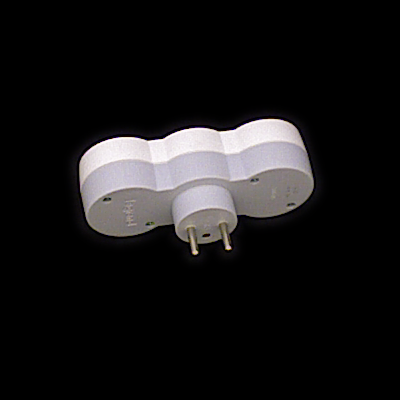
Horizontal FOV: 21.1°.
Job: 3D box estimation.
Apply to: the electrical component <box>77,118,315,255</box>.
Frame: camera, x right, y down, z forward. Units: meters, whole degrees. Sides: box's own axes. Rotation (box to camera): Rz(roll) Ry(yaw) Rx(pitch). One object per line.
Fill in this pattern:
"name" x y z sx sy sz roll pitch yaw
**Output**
"electrical component" 0.000 0.000 0.632 0.138 0.073 0.052 -7 -35 -7
